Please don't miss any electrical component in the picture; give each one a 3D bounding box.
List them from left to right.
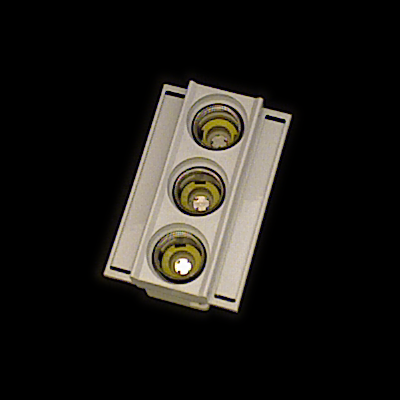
[{"bbox_3d":[0.000,0.000,0.637,0.078,0.122,0.063,15,-15,7],"label":"electrical component"}]
